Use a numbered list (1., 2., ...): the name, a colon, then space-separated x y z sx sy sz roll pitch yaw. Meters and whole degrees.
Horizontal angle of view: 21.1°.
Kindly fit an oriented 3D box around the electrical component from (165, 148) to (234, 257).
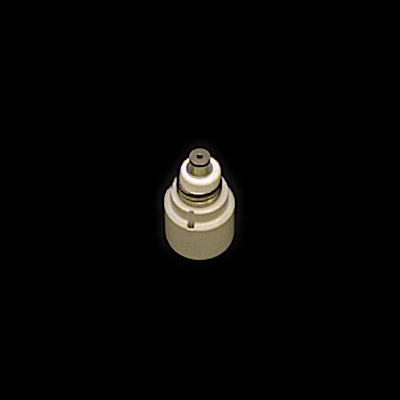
1. electrical component: 0.000 0.000 0.622 0.040 0.040 0.079 0 -37 -1
